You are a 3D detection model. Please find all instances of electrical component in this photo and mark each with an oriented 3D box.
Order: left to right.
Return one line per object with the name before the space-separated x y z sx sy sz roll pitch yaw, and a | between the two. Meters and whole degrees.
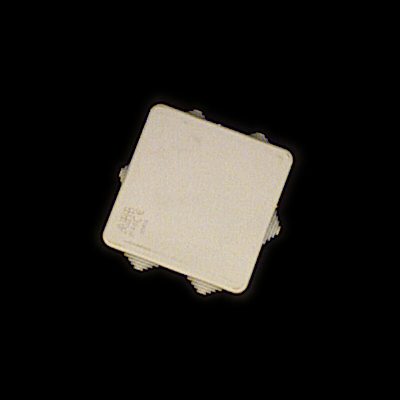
electrical component | 0.000 0.000 0.642 0.100 0.100 0.048 21 -6 2
